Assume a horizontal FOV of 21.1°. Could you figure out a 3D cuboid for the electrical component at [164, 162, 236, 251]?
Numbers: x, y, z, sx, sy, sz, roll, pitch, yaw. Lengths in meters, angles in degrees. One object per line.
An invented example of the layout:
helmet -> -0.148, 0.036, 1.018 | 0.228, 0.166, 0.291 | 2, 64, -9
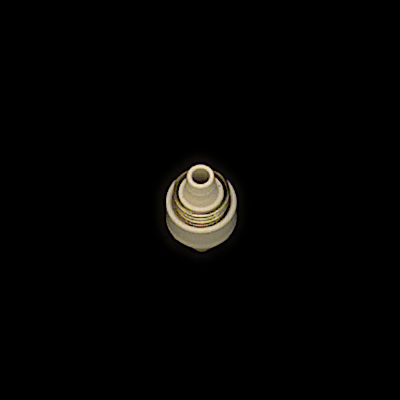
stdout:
electrical component -> 0.000, 0.000, 0.634 | 0.043, 0.043, 0.062 | 0, -28, 0
